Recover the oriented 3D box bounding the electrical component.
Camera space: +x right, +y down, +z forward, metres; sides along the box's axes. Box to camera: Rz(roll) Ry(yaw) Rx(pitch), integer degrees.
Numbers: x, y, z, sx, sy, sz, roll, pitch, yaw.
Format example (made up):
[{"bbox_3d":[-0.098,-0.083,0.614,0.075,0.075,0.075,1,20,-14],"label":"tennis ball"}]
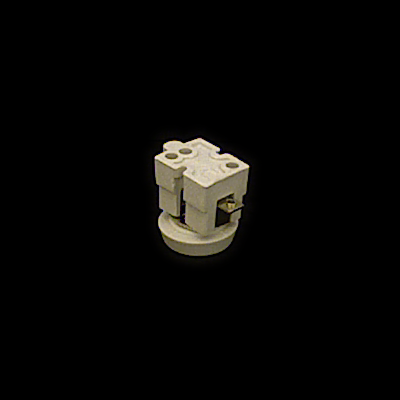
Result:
[{"bbox_3d":[0.000,0.000,0.643,0.048,0.056,0.065,-25,42,-36],"label":"electrical component"}]
